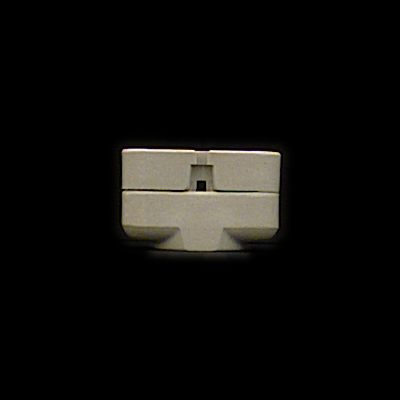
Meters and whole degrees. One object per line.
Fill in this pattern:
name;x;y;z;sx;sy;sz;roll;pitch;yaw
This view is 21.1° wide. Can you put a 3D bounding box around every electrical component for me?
electrical component;0.000;0.000;0.659;0.095;0.059;0.053;1;1;-3
